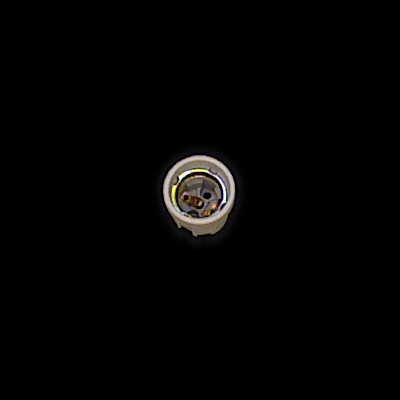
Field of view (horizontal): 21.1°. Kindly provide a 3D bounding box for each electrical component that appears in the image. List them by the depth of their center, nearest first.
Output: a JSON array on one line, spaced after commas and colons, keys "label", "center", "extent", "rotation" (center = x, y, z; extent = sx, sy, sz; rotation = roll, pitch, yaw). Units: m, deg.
[{"label": "electrical component", "center": [0.000, 0.000, 0.626], "extent": [0.040, 0.040, 0.046], "rotation": [0, -16, 0]}]
